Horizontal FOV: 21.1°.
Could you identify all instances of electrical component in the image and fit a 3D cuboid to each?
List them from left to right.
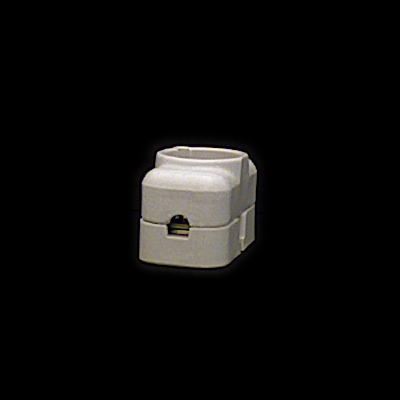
[{"bbox_3d":[0.000,0.000,0.651,0.053,0.060,0.095,5,11,14],"label":"electrical component"}]
